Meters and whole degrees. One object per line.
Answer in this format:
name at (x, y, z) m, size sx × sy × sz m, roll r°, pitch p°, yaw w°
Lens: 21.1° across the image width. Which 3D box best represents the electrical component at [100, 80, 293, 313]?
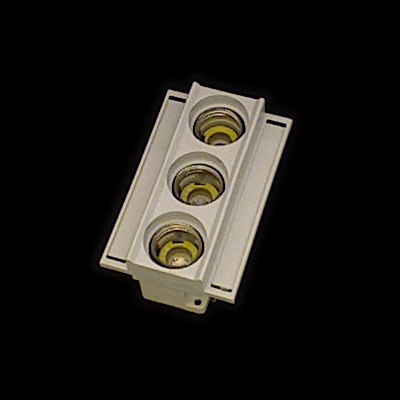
electrical component at (0.000, 0.000, 0.637) m, size 0.078 × 0.121 × 0.063 m, roll 15°, pitch -25°, yaw 9°
